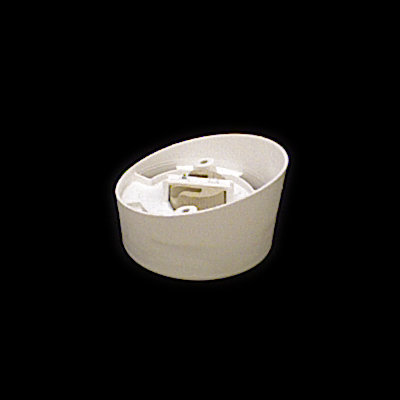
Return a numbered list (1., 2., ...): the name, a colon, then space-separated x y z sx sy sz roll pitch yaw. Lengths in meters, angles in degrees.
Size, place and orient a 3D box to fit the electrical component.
1. electrical component: 0.000 0.000 0.634 0.099 0.065 0.097 2 31 -1
